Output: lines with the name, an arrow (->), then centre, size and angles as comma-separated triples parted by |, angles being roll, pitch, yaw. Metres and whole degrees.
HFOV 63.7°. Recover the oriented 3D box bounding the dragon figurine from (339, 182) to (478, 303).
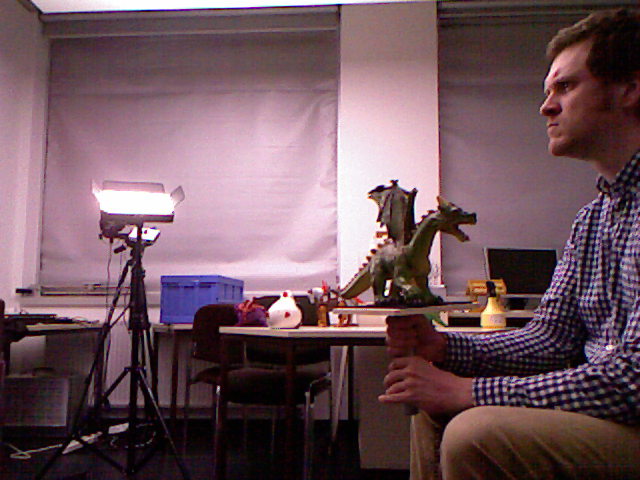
dragon figurine -> 0.143, 0.006, 1.032 | 0.122, 0.244, 0.408 | 3, -7, -33
